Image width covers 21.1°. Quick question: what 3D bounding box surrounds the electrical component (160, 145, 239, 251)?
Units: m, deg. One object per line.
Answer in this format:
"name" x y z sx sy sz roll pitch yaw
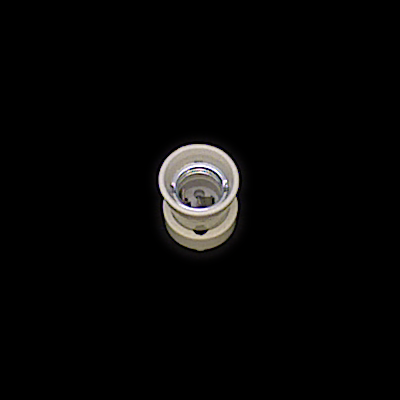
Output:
"electrical component" 0.000 0.000 0.627 0.045 0.045 0.055 0 -27 0
